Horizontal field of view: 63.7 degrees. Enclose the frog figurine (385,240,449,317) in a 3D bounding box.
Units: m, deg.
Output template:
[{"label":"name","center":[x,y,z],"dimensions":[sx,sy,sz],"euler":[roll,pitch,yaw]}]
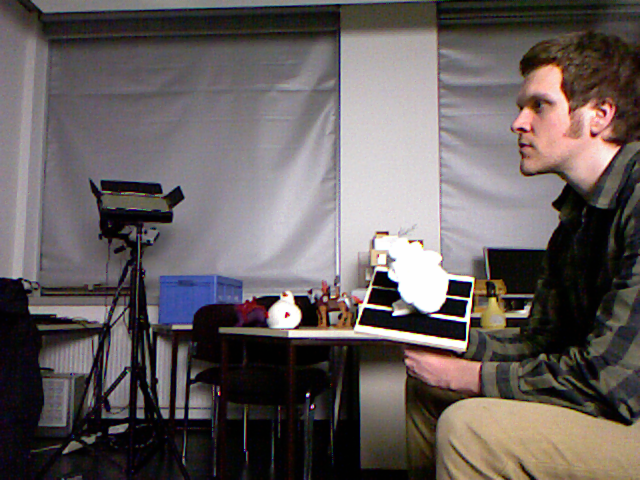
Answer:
[{"label":"frog figurine","center":[0.184,0.062,0.972],"dimensions":[0.124,0.156,0.140],"euler":[25,48,31]}]
